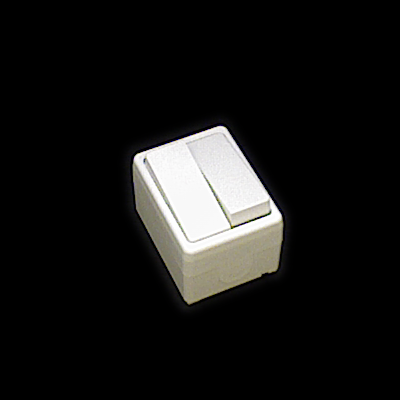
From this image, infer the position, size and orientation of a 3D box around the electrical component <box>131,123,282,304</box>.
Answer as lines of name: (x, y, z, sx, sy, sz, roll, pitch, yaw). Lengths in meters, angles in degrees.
electrical component: (0.000, 0.000, 0.630, 0.062, 0.096, 0.061, -20, -35, -15)
